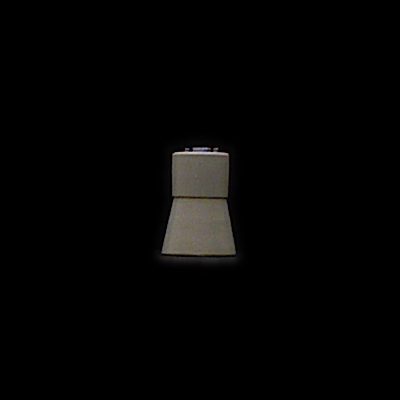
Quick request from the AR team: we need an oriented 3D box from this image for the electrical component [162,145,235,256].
[{"bbox_3d":[0.000,0.000,0.648,0.044,0.065,0.044,1,2,0],"label":"electrical component"}]
